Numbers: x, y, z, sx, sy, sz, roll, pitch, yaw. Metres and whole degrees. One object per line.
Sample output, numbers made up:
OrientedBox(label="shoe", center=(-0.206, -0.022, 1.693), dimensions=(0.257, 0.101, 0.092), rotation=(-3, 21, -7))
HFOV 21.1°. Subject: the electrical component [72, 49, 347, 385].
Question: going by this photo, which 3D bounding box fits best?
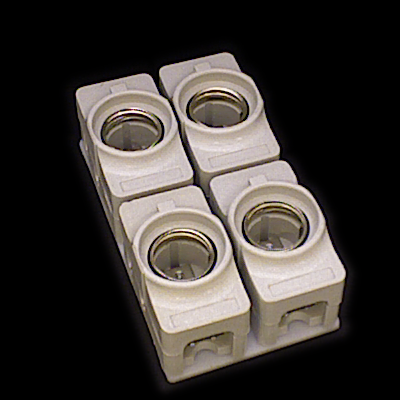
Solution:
OrientedBox(label="electrical component", center=(0.000, 0.000, 0.627), dimensions=(0.106, 0.185, 0.060), rotation=(-15, -36, -12))
